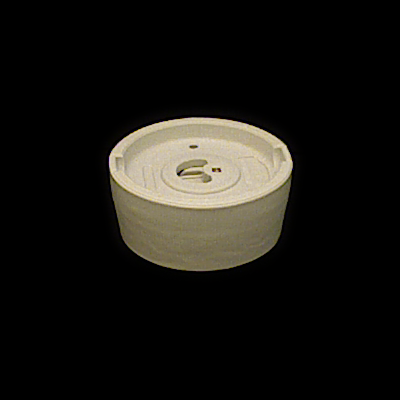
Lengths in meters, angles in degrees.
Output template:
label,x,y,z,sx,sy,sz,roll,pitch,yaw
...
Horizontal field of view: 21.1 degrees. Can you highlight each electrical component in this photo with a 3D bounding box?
label,x,y,z,sx,sy,sz,roll,pitch,yaw
electrical component,0.000,0.000,0.644,0.108,0.061,0.106,1,32,0
